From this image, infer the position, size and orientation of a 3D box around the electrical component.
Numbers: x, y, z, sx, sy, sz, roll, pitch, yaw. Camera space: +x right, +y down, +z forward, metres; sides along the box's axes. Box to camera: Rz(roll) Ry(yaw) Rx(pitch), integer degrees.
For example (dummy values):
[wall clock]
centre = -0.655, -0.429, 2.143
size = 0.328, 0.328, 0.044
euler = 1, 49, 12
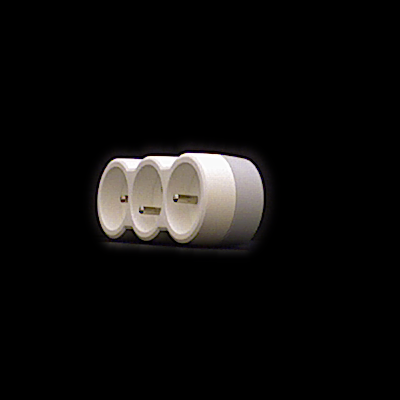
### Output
[electrical component]
centre = 0.000, 0.000, 0.652
size = 0.074, 0.052, 0.137
euler = 3, -2, -31
